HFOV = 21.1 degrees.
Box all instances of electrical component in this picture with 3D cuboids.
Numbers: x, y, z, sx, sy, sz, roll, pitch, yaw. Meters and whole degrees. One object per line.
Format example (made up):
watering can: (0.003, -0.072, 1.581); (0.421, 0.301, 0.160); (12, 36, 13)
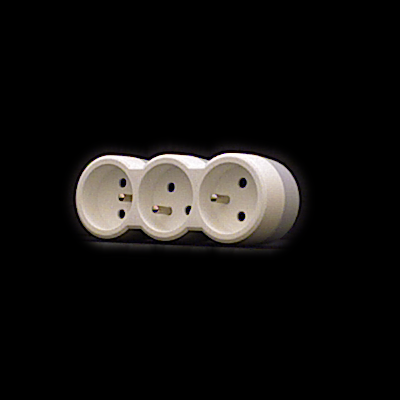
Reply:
electrical component: (0.000, 0.000, 0.651); (0.137, 0.052, 0.074); (0, -2, 34)
